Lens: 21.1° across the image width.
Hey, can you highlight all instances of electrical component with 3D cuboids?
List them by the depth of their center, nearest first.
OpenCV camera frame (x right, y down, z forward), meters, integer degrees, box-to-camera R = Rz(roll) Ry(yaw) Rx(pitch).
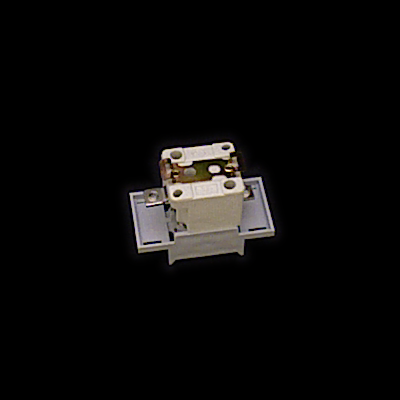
[{"bbox_3d":[0.000,0.000,0.628,0.081,0.042,0.064,-8,-37,-6],"label":"electrical component"}]
